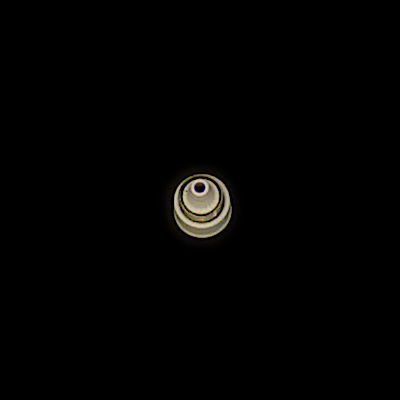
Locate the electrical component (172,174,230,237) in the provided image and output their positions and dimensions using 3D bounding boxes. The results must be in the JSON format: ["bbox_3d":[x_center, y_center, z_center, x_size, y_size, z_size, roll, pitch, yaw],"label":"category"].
[{"bbox_3d":[0.000,0.000,0.637,0.035,0.035,0.061,0,-15,3],"label":"electrical component"}]
